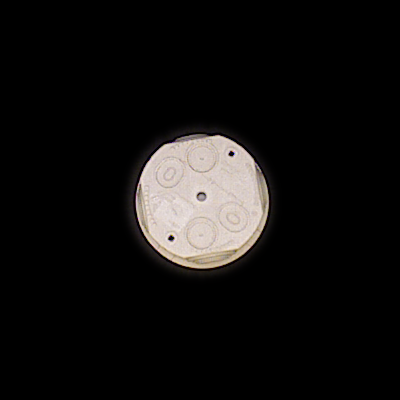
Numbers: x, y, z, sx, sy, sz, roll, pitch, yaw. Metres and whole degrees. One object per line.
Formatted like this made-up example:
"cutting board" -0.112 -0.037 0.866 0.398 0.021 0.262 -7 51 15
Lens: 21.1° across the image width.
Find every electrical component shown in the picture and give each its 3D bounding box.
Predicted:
"electrical component" 0.000 0.000 0.633 0.080 0.080 0.050 0 -6 1
